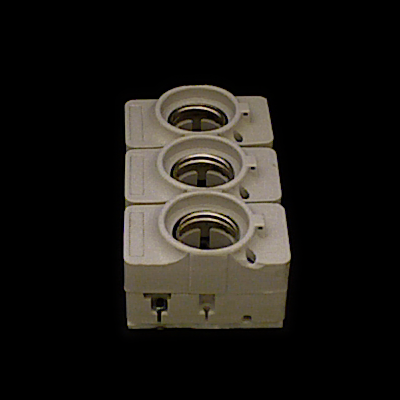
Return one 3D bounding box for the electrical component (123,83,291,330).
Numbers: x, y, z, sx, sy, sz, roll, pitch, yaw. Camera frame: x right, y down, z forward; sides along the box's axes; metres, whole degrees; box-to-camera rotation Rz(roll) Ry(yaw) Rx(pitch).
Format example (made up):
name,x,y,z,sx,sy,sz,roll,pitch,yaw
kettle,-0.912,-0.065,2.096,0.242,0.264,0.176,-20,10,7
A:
name,x,y,z,sx,sy,sz,roll,pitch,yaw
electrical component,0.000,0.000,0.637,0.089,0.063,0.147,-1,42,-3
